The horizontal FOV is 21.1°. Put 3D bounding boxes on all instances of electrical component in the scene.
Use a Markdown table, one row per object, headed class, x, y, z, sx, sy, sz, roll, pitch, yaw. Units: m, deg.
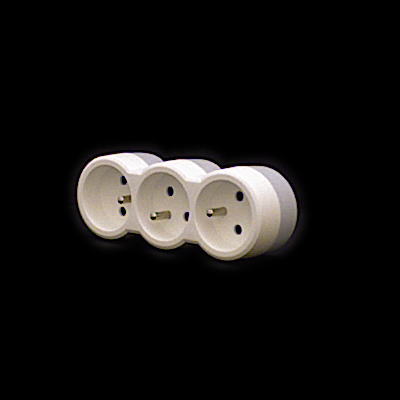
| class | x | y | z | sx | sy | sz | roll | pitch | yaw |
| --- | --- | --- | --- | --- | --- | --- | --- | --- | --- |
| electrical component | 0.000 | 0.000 | 0.647 | 0.137 | 0.052 | 0.074 | 8 | 10 | 36 |
